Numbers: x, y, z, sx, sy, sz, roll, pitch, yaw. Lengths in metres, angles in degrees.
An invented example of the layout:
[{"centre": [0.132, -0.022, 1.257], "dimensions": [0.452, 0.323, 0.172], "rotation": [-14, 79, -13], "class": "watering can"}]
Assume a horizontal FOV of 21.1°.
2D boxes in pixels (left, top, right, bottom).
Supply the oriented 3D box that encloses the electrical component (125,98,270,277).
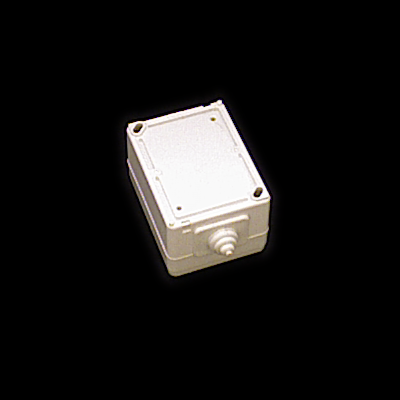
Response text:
[{"centre": [0.000, 0.000, 0.628], "dimensions": [0.062, 0.096, 0.061], "rotation": [-16, -35, -12], "class": "electrical component"}]
